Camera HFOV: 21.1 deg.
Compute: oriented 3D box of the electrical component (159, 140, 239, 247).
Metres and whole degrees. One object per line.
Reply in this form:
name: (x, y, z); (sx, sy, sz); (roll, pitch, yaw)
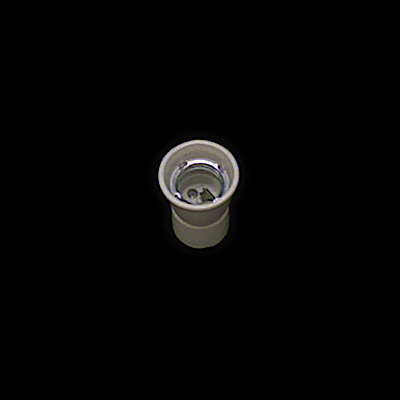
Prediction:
electrical component: (0.000, 0.000, 0.625); (0.044, 0.044, 0.065); (0, -28, 1)
